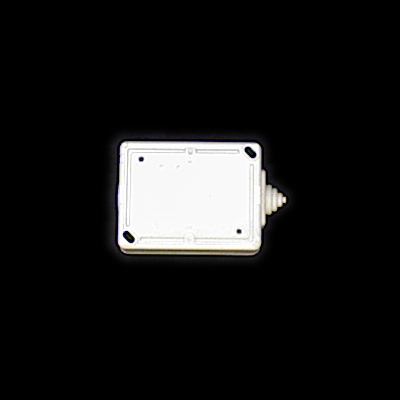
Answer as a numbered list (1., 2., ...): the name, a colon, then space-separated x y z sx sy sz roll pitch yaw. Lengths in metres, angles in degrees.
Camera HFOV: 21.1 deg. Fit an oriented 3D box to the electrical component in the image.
1. electrical component: 0.000 0.000 0.627 0.096 0.062 0.061 0 -7 1
